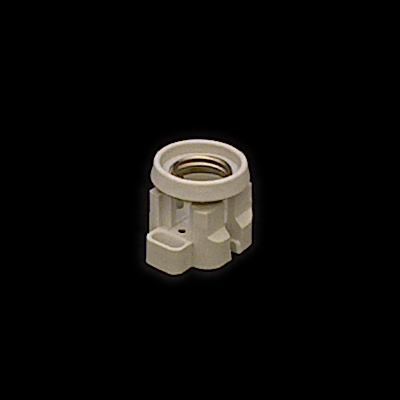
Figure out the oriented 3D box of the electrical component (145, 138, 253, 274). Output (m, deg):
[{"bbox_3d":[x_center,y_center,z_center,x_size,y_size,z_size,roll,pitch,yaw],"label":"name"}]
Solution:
[{"bbox_3d":[0.000,0.000,0.637,0.057,0.057,0.078,23,37,31],"label":"electrical component"}]
